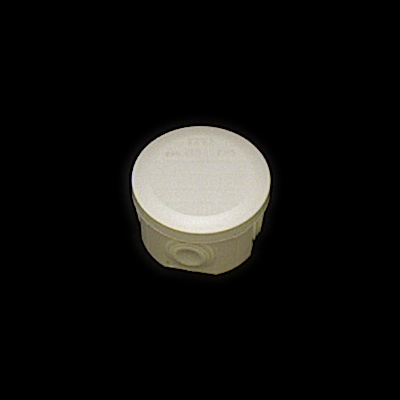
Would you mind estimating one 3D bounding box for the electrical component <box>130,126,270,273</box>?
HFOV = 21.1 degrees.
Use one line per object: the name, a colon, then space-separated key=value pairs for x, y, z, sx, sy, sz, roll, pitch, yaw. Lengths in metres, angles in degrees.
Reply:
electrical component: x=0.000 y=0.000 z=0.631 sx=0.080 sy=0.080 sz=0.051 roll=0 pitch=-38 yaw=-1
